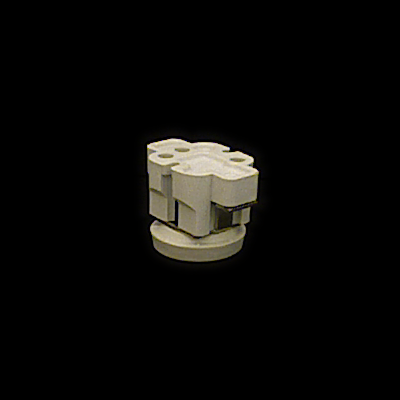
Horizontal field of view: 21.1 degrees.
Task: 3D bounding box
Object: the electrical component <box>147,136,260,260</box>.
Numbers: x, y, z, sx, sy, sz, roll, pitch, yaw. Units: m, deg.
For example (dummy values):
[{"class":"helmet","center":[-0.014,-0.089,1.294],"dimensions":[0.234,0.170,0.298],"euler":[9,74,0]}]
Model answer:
[{"class":"electrical component","center":[0.000,0.000,0.646],"dimensions":[0.058,0.057,0.077],"euler":[-17,30,-39]}]
